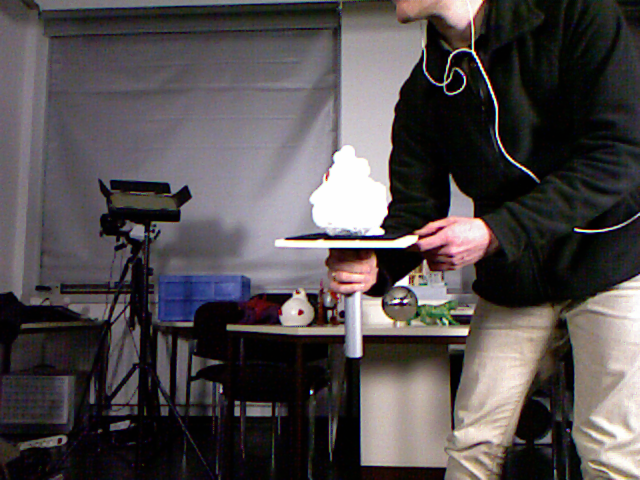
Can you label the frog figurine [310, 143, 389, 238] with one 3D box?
[{"bbox_3d":[0.049,-0.084,0.865,0.138,0.159,0.123,3,7,38],"label":"frog figurine"}]
